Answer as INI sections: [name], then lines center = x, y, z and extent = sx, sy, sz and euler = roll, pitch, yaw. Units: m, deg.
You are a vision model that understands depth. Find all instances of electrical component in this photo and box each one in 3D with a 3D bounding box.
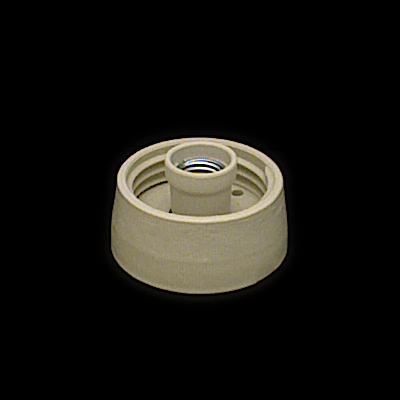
[electrical component]
center = 0.000, 0.000, 0.641
extent = 0.108, 0.061, 0.106
euler = 1, 32, 0
